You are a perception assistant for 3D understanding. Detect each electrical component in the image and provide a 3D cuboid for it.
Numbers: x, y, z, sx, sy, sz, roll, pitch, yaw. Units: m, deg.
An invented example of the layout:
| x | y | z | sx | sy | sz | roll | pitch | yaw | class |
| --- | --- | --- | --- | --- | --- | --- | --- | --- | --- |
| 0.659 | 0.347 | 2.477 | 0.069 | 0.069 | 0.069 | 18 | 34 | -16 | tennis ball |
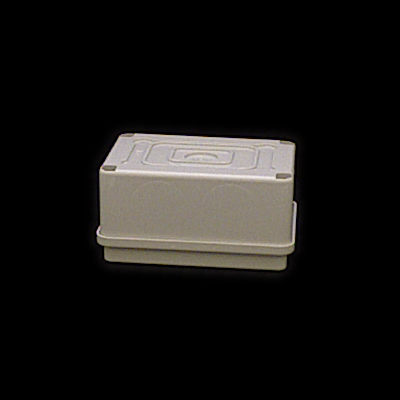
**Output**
| x | y | z | sx | sy | sz | roll | pitch | yaw | class |
| --- | --- | --- | --- | --- | --- | --- | --- | --- | --- |
| 0.000 | 0.000 | 0.639 | 0.113 | 0.058 | 0.077 | 3 | 21 | 5 | electrical component |
